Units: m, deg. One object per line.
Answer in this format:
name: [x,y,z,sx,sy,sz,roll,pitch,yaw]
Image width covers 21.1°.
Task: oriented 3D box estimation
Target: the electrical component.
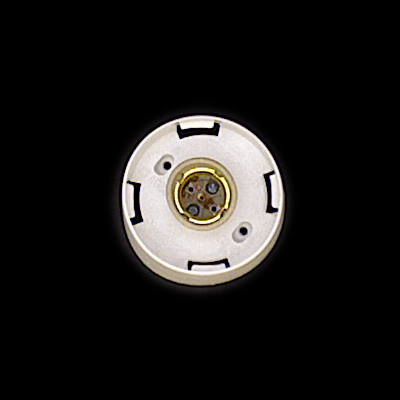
electrical component: [0.000,0.000,0.626,0.099,0.099,0.064,0,-6,1]
